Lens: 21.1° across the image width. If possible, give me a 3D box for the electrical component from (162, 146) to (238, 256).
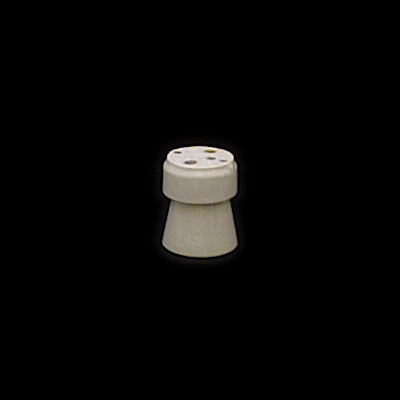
[{"bbox_3d":[0.000,0.000,0.638,0.045,0.056,0.044,0,21,0],"label":"electrical component"}]
